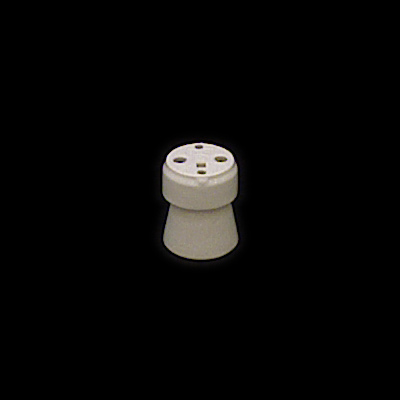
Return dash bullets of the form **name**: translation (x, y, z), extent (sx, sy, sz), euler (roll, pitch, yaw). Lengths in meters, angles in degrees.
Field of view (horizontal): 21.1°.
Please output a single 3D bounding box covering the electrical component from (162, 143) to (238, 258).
- **electrical component**: translation (0.000, 0.000, 0.635), extent (0.045, 0.056, 0.044), euler (1, 31, 0)
